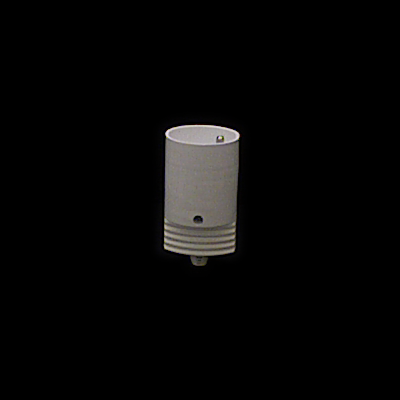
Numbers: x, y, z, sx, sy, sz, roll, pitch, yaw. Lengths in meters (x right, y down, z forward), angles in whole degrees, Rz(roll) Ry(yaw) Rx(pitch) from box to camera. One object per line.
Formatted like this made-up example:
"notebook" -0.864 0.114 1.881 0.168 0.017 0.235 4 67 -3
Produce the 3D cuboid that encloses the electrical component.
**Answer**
"electrical component" 0.000 0.000 0.637 0.043 0.082 0.042 2 22 -1
